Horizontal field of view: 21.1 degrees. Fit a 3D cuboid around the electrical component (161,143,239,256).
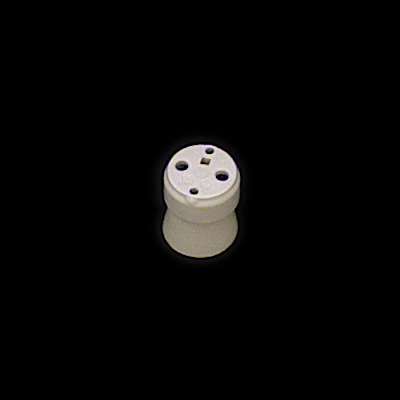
[{"bbox_3d":[0.000,0.000,0.630,0.045,0.044,0.055,0,-37,-1],"label":"electrical component"}]
